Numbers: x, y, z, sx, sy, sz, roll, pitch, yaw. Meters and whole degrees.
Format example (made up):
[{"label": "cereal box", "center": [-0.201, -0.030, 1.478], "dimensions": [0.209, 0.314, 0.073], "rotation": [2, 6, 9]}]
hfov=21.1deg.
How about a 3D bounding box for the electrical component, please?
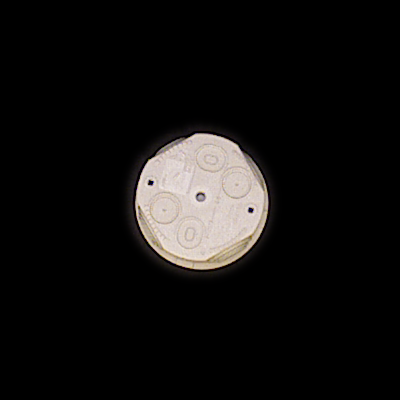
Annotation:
[{"label": "electrical component", "center": [0.000, 0.000, 0.633], "dimensions": [0.080, 0.080, 0.050], "rotation": [0, -7, 1]}]
